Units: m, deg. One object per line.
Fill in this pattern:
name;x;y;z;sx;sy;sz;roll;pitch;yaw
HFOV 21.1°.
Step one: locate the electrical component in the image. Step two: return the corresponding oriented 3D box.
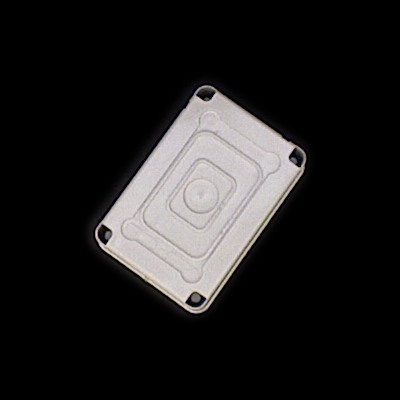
electrical component;0.000;0.000;0.628;0.078;0.113;0.057;35;-5;4
